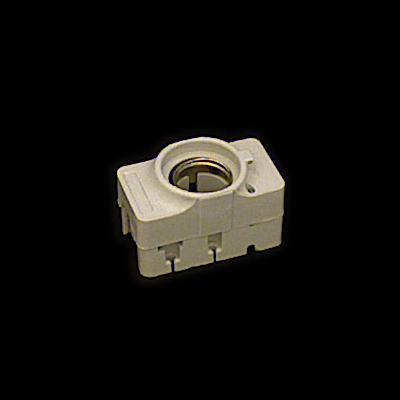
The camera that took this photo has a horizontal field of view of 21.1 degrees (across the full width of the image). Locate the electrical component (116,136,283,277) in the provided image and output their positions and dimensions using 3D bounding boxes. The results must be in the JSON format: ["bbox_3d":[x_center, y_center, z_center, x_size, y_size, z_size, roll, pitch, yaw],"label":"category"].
[{"bbox_3d":[0.000,0.000,0.639,0.090,0.056,0.049,-14,45,-15],"label":"electrical component"}]
